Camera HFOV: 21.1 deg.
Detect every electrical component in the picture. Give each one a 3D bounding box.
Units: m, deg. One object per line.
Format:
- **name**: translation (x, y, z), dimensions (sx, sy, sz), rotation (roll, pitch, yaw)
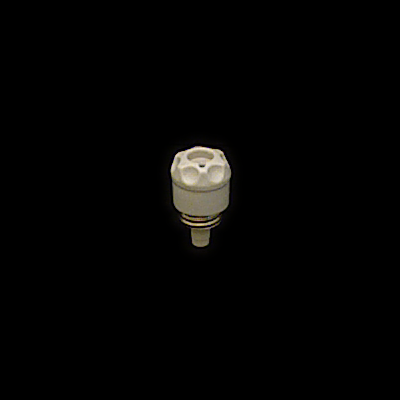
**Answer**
- **electrical component**: translation (0.000, 0.000, 0.639), dimensions (0.035, 0.062, 0.035), rotation (1, 32, 0)
